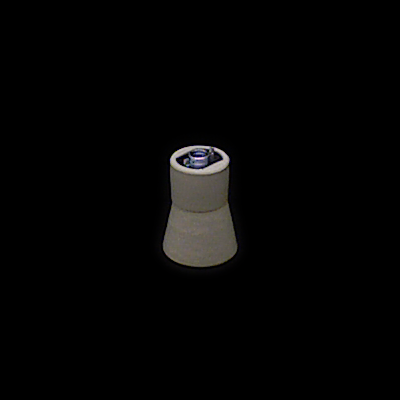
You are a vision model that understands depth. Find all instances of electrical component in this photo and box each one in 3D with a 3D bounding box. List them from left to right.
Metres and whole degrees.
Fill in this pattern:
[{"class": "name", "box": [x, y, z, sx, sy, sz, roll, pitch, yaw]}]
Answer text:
[{"class": "electrical component", "box": [0.000, 0.000, 0.634, 0.044, 0.066, 0.044, 0, 31, 0]}]
